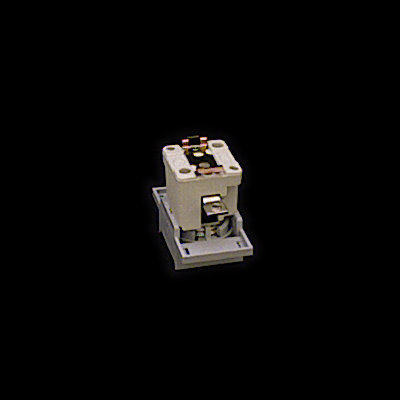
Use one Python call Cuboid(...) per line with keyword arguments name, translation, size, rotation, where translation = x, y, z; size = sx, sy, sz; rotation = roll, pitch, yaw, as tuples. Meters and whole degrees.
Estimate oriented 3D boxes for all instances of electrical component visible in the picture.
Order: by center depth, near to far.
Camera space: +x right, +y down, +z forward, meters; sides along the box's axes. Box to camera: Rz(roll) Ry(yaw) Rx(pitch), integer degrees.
Cuboid(name="electrical component", translation=(0.000, 0.000, 0.634), size=(0.042, 0.064, 0.079), rotation=(-8, 32, -13))
